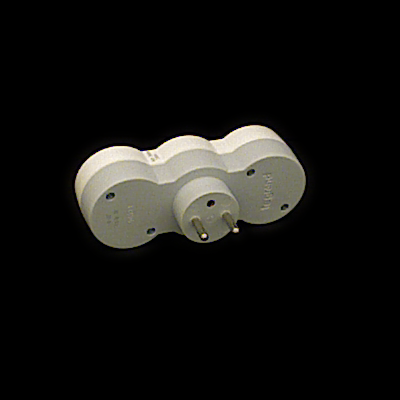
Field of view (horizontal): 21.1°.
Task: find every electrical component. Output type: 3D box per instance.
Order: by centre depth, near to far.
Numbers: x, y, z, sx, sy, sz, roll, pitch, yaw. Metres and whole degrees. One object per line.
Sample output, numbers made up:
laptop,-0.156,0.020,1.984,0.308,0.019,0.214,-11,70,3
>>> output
electrical component,0.000,0.000,0.641,0.139,0.053,0.072,-10,35,-17
